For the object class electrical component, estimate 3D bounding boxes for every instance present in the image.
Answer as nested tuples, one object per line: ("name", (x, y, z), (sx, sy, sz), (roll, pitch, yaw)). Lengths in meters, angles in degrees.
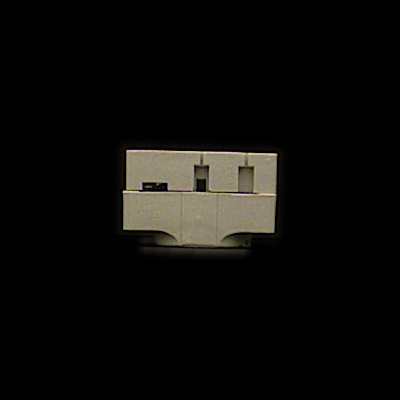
("electrical component", (0.000, 0.000, 0.657), (0.090, 0.056, 0.050), (2, 1, -1))
